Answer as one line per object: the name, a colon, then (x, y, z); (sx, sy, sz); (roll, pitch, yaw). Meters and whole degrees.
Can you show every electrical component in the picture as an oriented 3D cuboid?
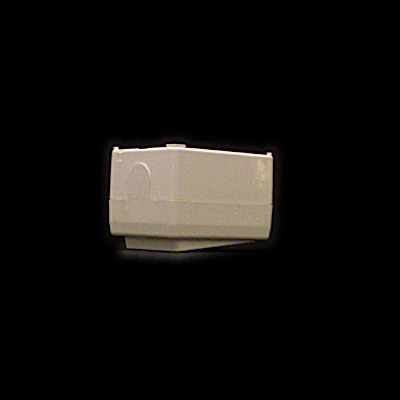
electrical component: (0.000, 0.000, 0.649); (0.096, 0.061, 0.061); (2, 0, -41)
